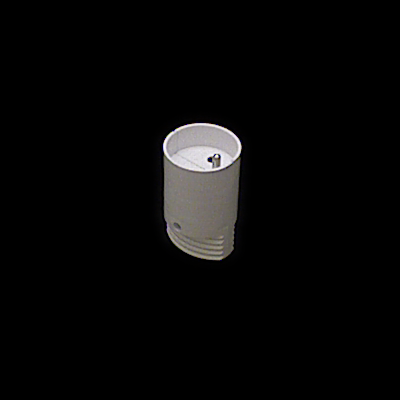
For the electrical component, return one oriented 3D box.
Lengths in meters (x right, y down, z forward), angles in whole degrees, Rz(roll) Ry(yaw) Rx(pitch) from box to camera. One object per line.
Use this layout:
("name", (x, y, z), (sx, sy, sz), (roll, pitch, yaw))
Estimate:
("electrical component", (0.000, 0.000, 0.623), (0.043, 0.082, 0.042), (1, 42, 0))
